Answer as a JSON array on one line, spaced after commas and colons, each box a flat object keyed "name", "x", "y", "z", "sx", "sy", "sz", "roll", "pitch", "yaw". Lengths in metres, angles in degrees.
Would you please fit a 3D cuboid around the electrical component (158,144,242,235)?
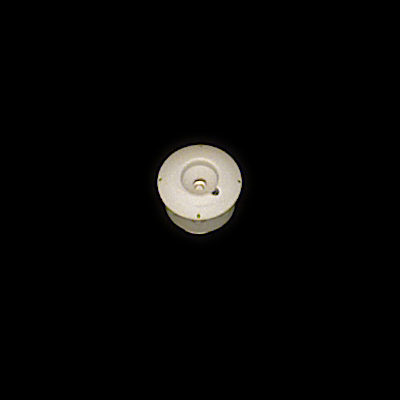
[{"name": "electrical component", "x": 0.000, "y": 0.000, "z": 0.634, "sx": 0.048, "sy": 0.048, "sz": 0.062, "roll": 0, "pitch": -27, "yaw": 0}]
